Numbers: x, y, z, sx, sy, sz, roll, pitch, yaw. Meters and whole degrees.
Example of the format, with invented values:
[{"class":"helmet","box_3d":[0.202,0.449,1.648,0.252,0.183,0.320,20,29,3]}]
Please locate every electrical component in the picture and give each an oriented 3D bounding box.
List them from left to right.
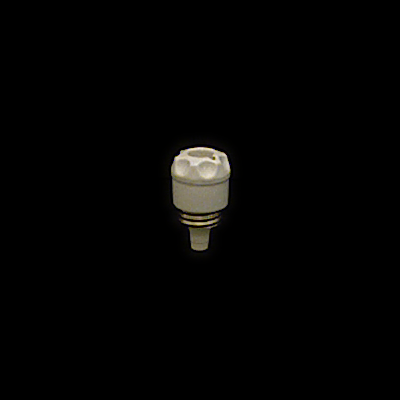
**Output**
[{"class":"electrical component","box_3d":[0.000,0.000,0.643,0.035,0.062,0.035,1,22,0]}]
